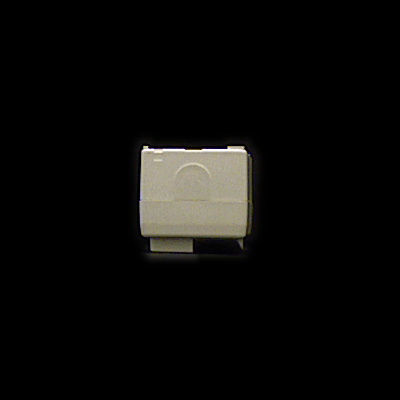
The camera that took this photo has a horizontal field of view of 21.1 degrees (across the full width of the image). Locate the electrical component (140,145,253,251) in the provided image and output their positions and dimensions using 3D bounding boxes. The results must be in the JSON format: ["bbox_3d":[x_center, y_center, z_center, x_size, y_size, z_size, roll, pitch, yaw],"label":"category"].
[{"bbox_3d":[0.000,0.000,0.658,0.062,0.061,0.096,1,0,5],"label":"electrical component"}]
